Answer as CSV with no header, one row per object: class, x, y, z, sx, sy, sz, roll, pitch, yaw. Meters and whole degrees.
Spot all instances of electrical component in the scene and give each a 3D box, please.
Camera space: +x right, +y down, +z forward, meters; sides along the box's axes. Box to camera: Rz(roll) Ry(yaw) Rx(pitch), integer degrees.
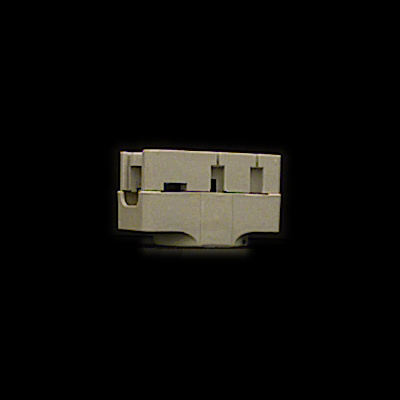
electrical component,0.000,0.000,0.657,0.090,0.056,0.050,1,1,-26
